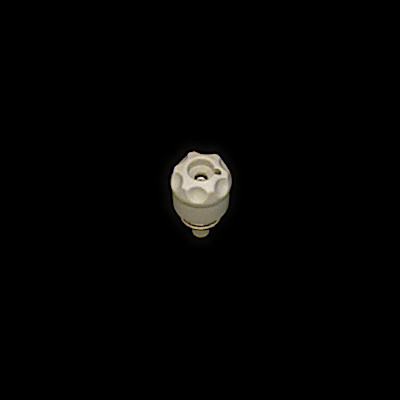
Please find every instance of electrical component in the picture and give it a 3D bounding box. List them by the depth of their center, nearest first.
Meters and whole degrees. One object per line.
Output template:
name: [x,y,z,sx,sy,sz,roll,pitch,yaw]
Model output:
electrical component: [0.000,0.000,0.634,0.035,0.035,0.061,0,-37,0]
